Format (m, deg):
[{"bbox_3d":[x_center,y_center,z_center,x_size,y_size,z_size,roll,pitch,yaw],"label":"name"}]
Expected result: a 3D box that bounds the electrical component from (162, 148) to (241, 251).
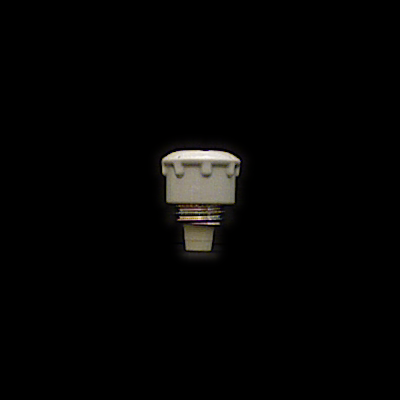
[{"bbox_3d":[0.000,0.000,0.657,0.048,0.062,0.048,1,2,0],"label":"electrical component"}]
